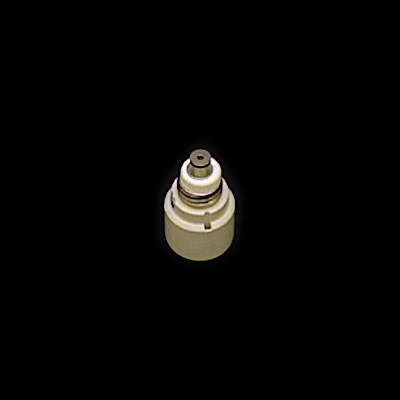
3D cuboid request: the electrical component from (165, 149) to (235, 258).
[{"bbox_3d":[0.000,0.000,0.622,0.040,0.040,0.079,0,-37,-1],"label":"electrical component"}]
